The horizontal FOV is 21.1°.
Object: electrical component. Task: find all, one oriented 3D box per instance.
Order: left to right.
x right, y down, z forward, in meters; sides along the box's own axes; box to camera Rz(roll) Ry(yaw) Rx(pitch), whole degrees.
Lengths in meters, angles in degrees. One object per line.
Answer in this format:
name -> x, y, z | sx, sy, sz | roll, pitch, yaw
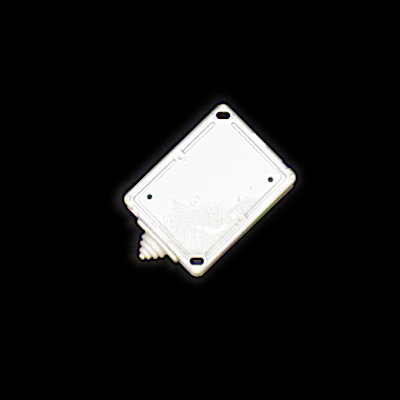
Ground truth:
electrical component -> 0.000, 0.000, 0.625 | 0.096, 0.062, 0.060 | -44, -4, -5
